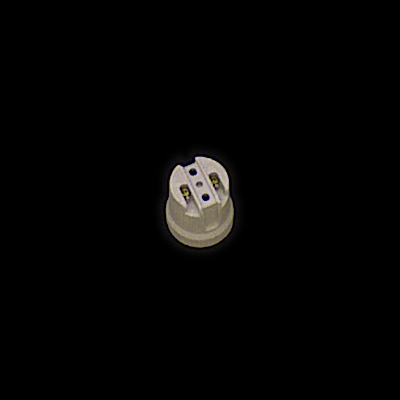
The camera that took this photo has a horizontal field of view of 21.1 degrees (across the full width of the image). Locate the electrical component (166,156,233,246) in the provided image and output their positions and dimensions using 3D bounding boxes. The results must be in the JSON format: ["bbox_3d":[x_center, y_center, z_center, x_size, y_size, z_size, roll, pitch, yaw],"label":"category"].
[{"bbox_3d":[0.000,0.000,0.632,0.040,0.040,0.046,0,-27,0],"label":"electrical component"}]
